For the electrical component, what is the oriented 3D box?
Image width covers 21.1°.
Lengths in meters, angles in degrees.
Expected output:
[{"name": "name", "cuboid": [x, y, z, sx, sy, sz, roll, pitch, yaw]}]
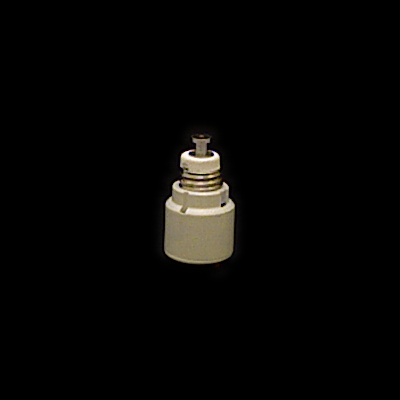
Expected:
[{"name": "electrical component", "cuboid": [0.000, 0.000, 0.634, 0.040, 0.079, 0.039, 1, 20, 0]}]
